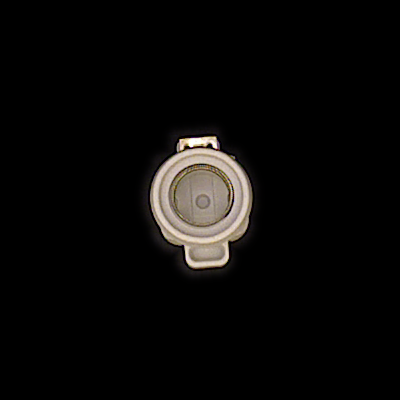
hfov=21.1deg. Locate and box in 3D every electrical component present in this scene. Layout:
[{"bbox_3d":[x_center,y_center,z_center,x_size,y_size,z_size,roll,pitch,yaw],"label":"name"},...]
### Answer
[{"bbox_3d":[0.000,0.000,0.630,0.058,0.078,0.056,-5,-6,0],"label":"electrical component"}]
